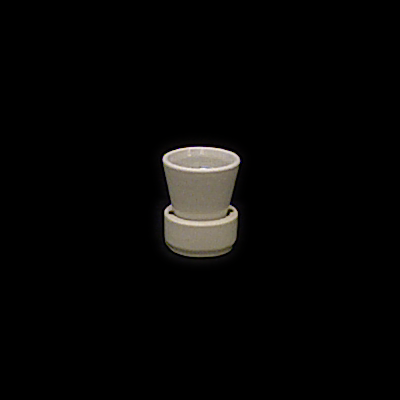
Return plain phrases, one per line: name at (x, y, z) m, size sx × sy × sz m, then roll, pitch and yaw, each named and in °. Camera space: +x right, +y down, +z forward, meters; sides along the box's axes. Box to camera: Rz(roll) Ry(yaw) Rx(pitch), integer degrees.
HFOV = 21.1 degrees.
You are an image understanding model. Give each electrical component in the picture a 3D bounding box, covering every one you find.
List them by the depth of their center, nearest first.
electrical component at (0.000, 0.000, 0.640) m, size 0.045 × 0.056 × 0.044 m, roll 1°, pitch 21°, yaw 0°
